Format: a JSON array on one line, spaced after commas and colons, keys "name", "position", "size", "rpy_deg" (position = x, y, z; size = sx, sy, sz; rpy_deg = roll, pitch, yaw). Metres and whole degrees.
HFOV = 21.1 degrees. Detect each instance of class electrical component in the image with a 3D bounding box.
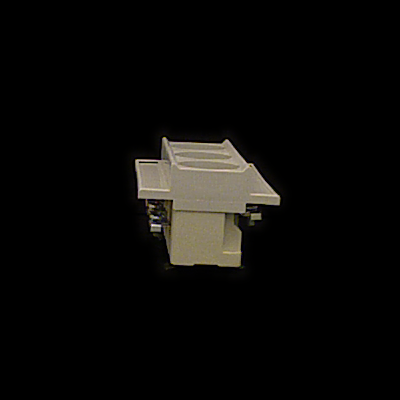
[{"name": "electrical component", "position": [0.000, 0.000, 0.658], "size": [0.079, 0.063, 0.120], "rpy_deg": [2, 11, -4]}]
